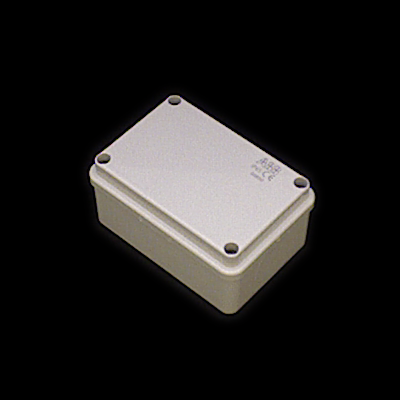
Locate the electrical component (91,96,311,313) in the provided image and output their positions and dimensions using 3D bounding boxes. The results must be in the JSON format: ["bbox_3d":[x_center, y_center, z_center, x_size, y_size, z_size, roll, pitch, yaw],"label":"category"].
[{"bbox_3d":[0.000,0.000,0.630,0.112,0.057,0.078,35,60,23],"label":"electrical component"}]
